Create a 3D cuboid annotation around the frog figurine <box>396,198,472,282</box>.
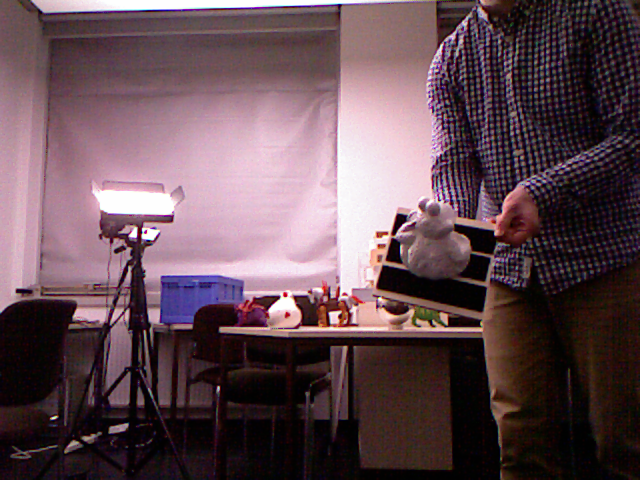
[{"bbox_3d":[0.210,0.003,0.936,0.138,0.124,0.156,27,-20,19],"label":"frog figurine"}]
